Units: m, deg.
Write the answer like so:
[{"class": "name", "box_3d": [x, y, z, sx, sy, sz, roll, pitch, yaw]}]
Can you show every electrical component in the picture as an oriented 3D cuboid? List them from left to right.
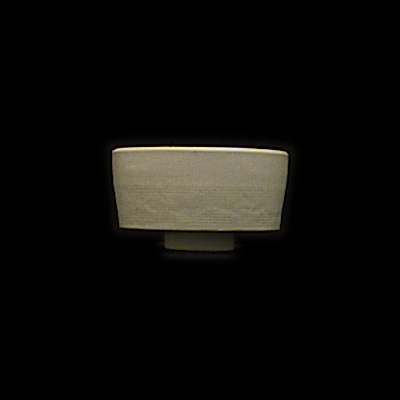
[{"class": "electrical component", "box_3d": [0.000, 0.000, 0.659, 0.108, 0.060, 0.108, 1, 1, 0]}]
